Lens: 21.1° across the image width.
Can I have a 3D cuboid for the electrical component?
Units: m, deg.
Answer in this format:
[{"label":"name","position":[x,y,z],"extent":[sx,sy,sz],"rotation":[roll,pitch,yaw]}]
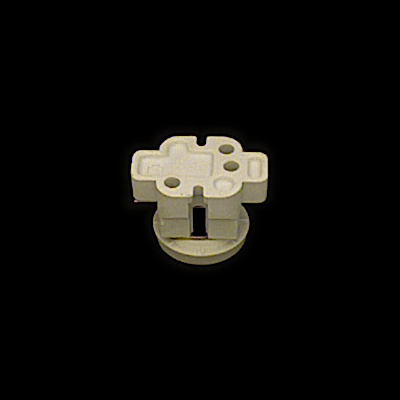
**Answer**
[{"label":"electrical component","position":[0.000,0.000,0.638],"extent":[0.078,0.057,0.057],"rotation":[0,43,1]}]
